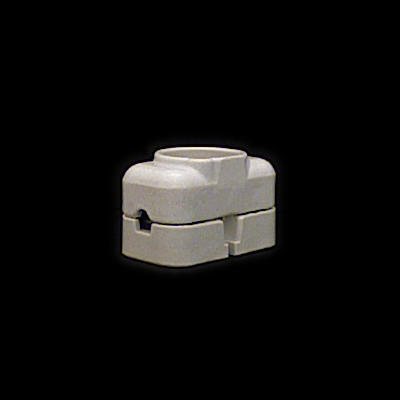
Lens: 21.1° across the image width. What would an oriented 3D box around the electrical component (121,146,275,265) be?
[{"bbox_3d":[0.000,0.000,0.650,0.053,0.060,0.095,12,16,43],"label":"electrical component"}]
